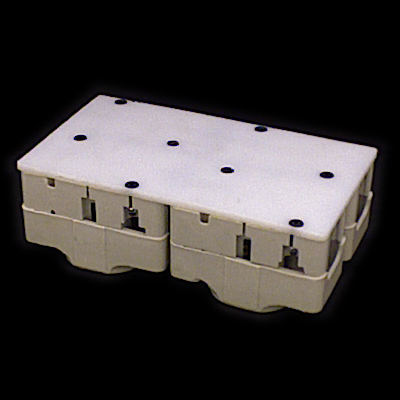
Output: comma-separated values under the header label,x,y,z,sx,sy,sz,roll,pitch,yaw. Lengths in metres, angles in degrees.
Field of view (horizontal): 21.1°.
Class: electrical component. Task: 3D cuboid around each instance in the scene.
label,x,y,z,sx,sy,sz,roll,pitch,yaw
electrical component,0.000,0.000,0.634,0.185,0.061,0.104,13,33,18
